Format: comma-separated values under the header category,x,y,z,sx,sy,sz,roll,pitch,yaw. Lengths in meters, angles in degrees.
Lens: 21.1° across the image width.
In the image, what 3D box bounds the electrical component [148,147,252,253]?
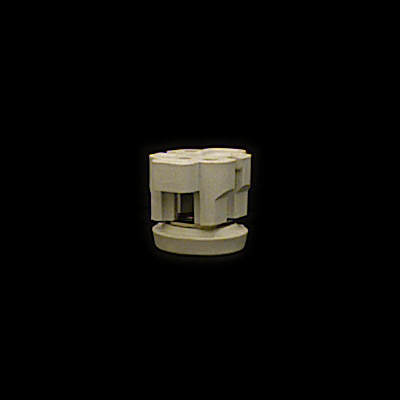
category,x,y,z,sx,sy,sz,roll,pitch,yaw
electrical component,0.000,0.000,0.653,0.057,0.057,0.079,6,11,27
